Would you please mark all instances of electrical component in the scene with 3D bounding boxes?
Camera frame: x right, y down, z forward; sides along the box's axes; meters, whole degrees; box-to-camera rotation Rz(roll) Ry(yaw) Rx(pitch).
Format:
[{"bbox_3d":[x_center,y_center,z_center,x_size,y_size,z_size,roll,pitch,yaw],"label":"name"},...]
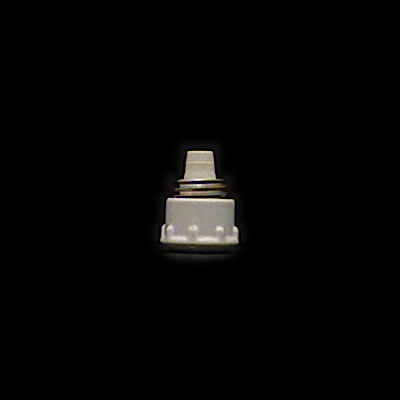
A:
[{"bbox_3d":[0.000,0.000,0.654,0.048,0.062,0.048,0,2,1],"label":"electrical component"}]
